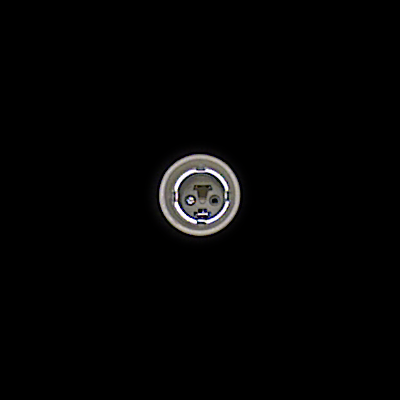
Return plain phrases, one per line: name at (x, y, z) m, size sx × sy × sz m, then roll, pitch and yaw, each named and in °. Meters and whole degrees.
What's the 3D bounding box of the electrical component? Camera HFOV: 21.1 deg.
electrical component at (0.000, 0.000, 0.625) m, size 0.044 × 0.044 × 0.065 m, roll 0°, pitch -6°, yaw 2°
